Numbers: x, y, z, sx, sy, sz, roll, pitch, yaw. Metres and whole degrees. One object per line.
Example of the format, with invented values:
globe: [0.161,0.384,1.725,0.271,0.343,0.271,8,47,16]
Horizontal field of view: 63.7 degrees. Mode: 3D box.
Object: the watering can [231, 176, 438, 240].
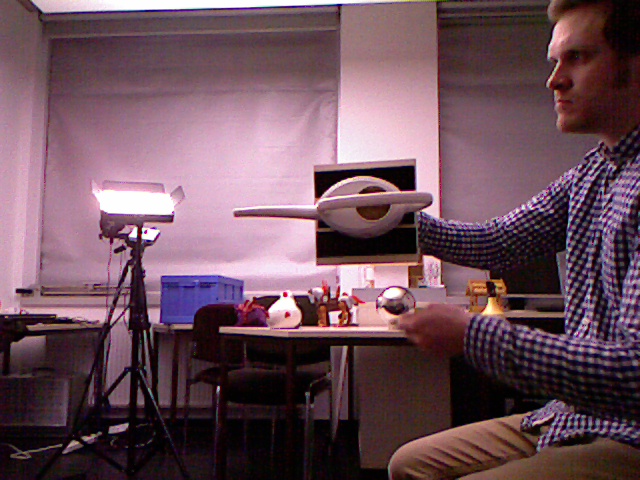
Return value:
watering can: [0.034,-0.054,0.936,0.349,0.105,0.224,-4,-5,8]
